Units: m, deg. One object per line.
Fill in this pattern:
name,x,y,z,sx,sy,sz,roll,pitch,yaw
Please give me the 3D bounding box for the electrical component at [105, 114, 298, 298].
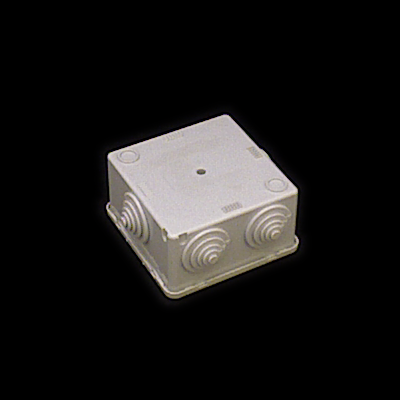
electrical component,0.000,0.000,0.633,0.100,0.049,0.099,-20,46,-21
